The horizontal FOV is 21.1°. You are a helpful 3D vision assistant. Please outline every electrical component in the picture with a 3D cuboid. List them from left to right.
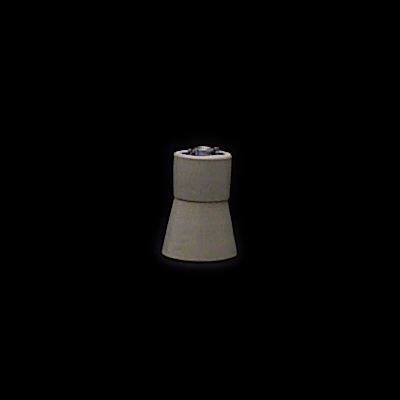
[{"bbox_3d":[0.000,0.000,0.642,0.044,0.066,0.044,2,12,0],"label":"electrical component"}]
